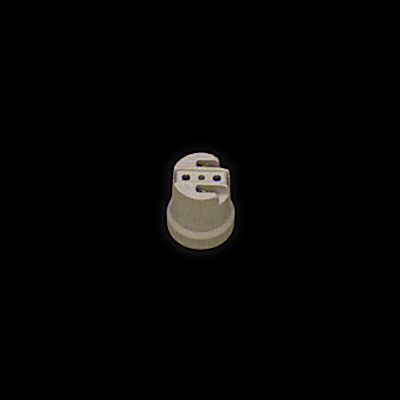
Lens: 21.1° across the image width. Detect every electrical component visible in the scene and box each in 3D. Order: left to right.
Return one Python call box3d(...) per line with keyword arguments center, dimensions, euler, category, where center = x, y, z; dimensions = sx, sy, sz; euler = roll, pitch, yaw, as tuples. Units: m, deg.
box3d(center=(0.000, 0.000, 0.633), dimensions=(0.040, 0.040, 0.046), euler=(0, -37, 0), category="electrical component")
